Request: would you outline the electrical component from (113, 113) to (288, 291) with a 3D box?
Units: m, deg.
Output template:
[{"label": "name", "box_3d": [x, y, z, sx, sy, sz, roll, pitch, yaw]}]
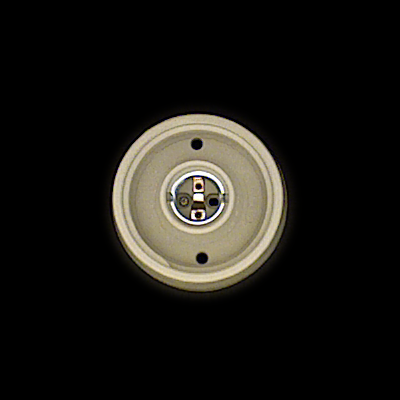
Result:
[{"label": "electrical component", "box_3d": [0.000, 0.000, 0.634, 0.108, 0.108, 0.060, 0, -6, 0]}]
